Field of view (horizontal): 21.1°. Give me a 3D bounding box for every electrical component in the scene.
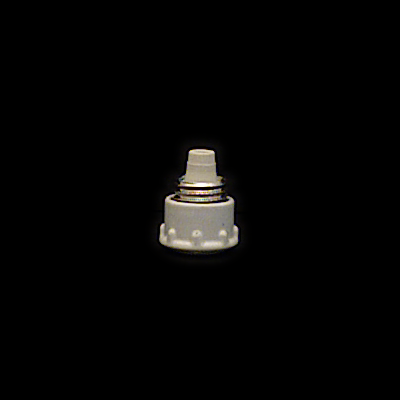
[{"bbox_3d":[0.000,0.000,0.651,0.048,0.062,0.048,2,13,0],"label":"electrical component"}]
